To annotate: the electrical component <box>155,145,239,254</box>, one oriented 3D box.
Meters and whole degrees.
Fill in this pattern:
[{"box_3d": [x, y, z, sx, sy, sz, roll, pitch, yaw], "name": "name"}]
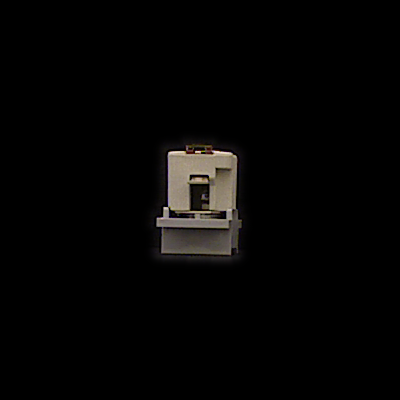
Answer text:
[{"box_3d": [0.000, 0.000, 0.650, 0.042, 0.064, 0.081, 1, 1, 6], "name": "electrical component"}]
